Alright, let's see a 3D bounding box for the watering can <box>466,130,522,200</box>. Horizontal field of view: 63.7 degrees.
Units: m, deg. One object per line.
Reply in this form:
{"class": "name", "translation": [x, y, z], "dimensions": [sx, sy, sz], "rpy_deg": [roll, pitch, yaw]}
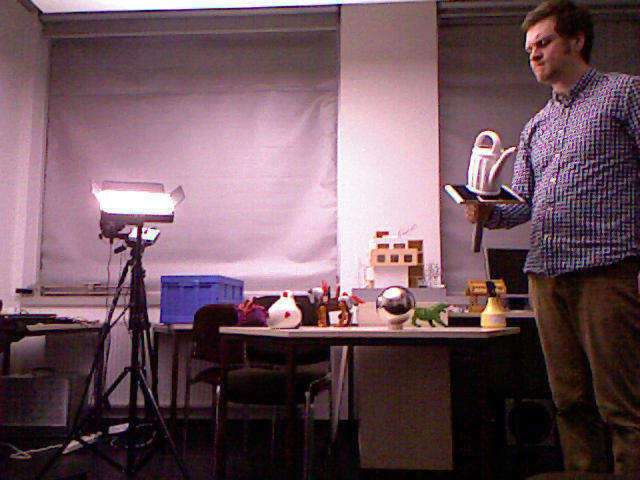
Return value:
{"class": "watering can", "translation": [0.549, -0.232, 1.652], "dimensions": [0.104, 0.221, 0.353], "rpy_deg": [0, 19, -3]}
